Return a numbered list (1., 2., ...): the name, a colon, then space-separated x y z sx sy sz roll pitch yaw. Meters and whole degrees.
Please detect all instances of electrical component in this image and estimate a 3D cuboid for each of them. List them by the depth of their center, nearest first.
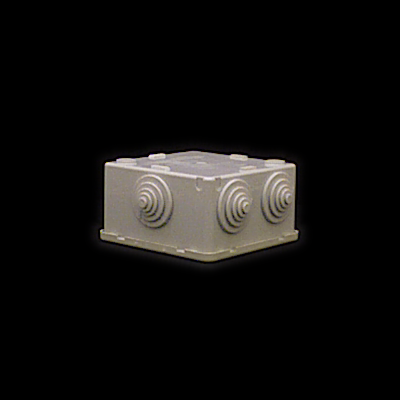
1. electrical component: 0.000 0.000 0.644 0.099 0.049 0.100 10 14 39
